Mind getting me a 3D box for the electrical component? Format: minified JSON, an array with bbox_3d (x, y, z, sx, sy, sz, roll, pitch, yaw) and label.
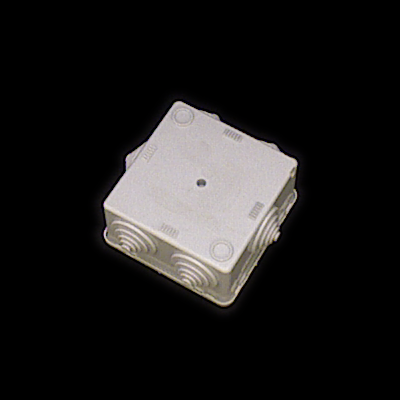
[{"bbox_3d":[0.000,0.000,0.631,0.099,0.100,0.048,28,-23,13],"label":"electrical component"}]
